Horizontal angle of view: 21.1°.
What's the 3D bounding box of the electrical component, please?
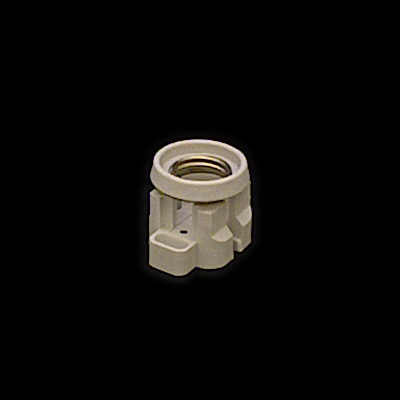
[{"bbox_3d":[0.000,0.000,0.637,0.057,0.057,0.078,19,36,27],"label":"electrical component"}]
